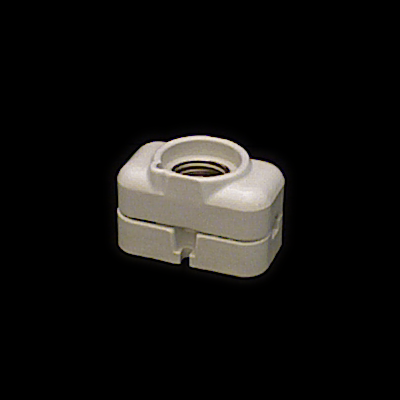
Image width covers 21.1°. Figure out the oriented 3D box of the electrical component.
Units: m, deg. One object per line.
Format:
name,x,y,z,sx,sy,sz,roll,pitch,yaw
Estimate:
electrical component,0.000,0.000,0.640,0.094,0.060,0.053,11,33,16
